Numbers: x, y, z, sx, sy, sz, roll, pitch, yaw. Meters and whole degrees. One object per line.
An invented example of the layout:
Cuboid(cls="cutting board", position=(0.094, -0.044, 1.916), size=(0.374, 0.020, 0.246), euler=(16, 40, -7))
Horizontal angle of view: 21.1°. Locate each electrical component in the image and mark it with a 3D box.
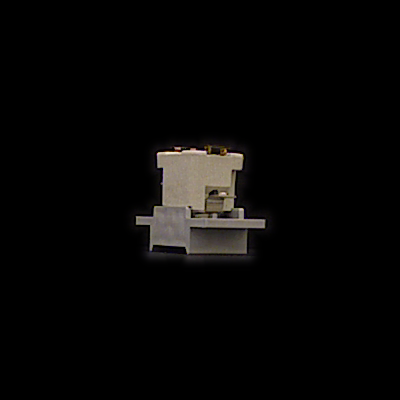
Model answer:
Cuboid(cls="electrical component", position=(0.000, 0.000, 0.650), size=(0.042, 0.064, 0.081), euler=(1, 0, -34))
